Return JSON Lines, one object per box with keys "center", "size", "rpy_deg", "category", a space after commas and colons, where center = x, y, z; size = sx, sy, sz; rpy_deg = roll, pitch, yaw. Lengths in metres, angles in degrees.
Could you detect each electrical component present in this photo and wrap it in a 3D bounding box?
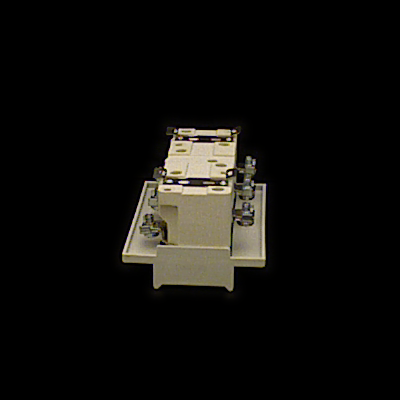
{"center": [0.000, 0.000, 0.645], "size": [0.079, 0.064, 0.120], "rpy_deg": [1, 21, 2], "category": "electrical component"}
